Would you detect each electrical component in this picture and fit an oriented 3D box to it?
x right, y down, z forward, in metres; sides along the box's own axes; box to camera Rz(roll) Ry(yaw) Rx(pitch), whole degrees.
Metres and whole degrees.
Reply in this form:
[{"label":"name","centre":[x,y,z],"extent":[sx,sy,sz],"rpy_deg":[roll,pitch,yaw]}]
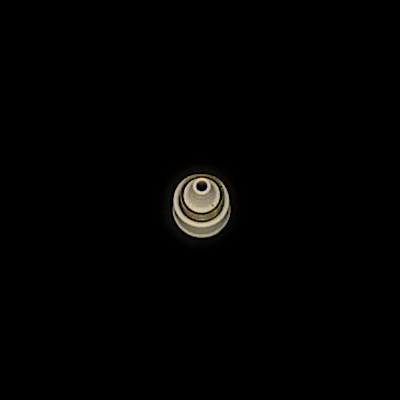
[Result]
[{"label":"electrical component","centre":[0.000,0.000,0.637],"extent":[0.035,0.035,0.061],"rpy_deg":[0,-16,0]}]
